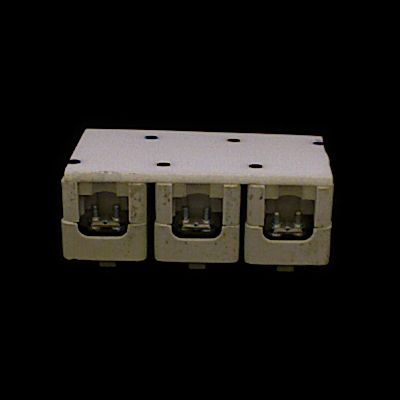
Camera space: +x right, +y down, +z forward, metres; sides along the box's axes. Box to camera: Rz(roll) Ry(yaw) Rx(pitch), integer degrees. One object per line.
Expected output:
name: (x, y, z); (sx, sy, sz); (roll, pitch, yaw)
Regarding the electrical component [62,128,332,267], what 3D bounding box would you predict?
electrical component: (0.000, 0.000, 0.643); (0.150, 0.063, 0.088); (1, 20, 2)
